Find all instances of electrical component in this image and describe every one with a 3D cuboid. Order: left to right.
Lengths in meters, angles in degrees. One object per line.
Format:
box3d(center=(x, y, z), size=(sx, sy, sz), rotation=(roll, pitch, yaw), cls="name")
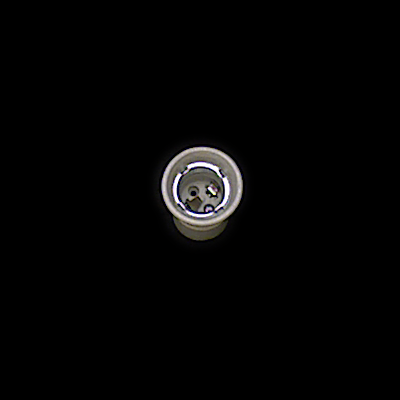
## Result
box3d(center=(0.000, 0.000, 0.624), size=(0.044, 0.044, 0.065), rotation=(0, -16, -1), cls="electrical component")
